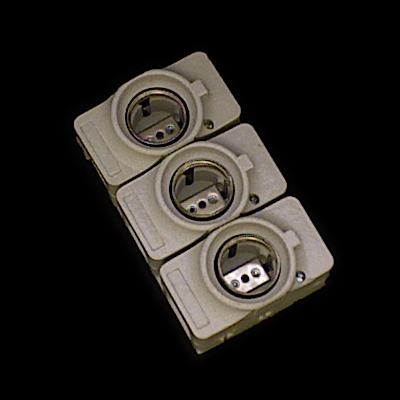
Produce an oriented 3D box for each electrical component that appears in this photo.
[{"bbox_3d":[0.000,0.000,0.632,0.089,0.150,0.062,-29,-14,-9],"label":"electrical component"}]
